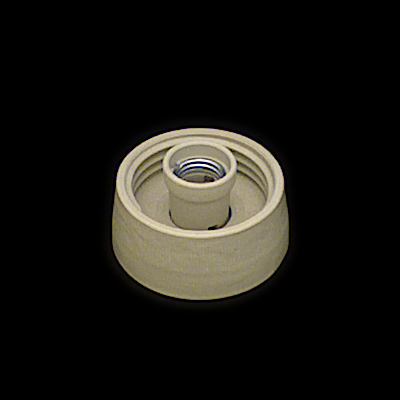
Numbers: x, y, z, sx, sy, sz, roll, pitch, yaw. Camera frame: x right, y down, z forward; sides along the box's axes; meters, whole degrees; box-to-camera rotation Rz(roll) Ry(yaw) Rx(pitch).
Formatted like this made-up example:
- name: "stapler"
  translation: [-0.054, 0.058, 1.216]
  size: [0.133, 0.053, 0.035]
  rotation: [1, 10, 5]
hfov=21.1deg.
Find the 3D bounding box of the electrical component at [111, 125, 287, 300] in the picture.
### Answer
- name: "electrical component"
  translation: [0.000, 0.000, 0.637]
  size: [0.108, 0.061, 0.107]
  rotation: [1, 43, 0]
